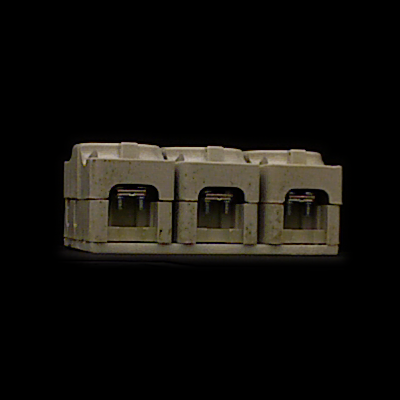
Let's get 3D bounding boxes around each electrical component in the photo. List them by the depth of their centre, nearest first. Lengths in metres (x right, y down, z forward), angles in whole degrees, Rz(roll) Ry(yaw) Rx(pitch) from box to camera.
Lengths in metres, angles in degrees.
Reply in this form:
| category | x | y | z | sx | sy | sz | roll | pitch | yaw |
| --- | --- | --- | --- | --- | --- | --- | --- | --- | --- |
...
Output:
| category | x | y | z | sx | sy | sz | roll | pitch | yaw |
| --- | --- | --- | --- | --- | --- | --- | --- | --- | --- |
| electrical component | 0.000 | 0.000 | 0.655 | 0.150 | 0.062 | 0.089 | 1 | 0 | -18 |
